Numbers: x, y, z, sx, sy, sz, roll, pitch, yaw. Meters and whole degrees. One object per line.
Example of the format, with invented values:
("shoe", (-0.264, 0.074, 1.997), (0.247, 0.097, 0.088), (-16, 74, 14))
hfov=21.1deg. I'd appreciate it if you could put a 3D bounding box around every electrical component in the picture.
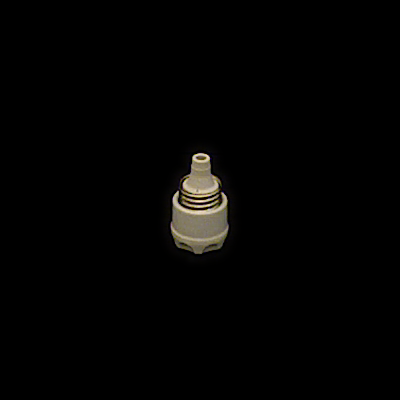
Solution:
("electrical component", (0.000, 0.000, 0.648), (0.035, 0.062, 0.034), (1, 34, 0))
